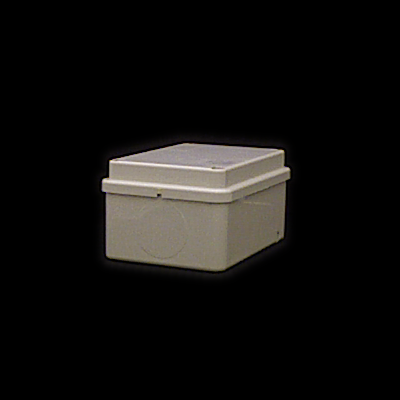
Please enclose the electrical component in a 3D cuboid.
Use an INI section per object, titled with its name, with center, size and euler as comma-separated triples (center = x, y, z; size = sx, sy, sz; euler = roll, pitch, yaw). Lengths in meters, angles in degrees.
[electrical component]
center = 0.000, 0.000, 0.643
size = 0.078, 0.057, 0.112
euler = 6, 11, 23
